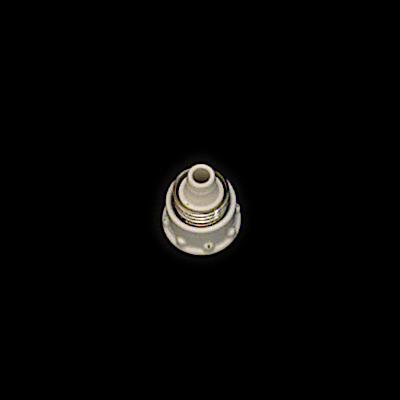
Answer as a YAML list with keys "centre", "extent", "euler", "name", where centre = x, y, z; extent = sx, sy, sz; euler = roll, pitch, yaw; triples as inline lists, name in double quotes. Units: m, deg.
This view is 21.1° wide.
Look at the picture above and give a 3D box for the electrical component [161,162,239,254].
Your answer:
- centre: [0.000, 0.000, 0.634]
  extent: [0.048, 0.048, 0.062]
  euler: [0, -28, 0]
  name: "electrical component"
